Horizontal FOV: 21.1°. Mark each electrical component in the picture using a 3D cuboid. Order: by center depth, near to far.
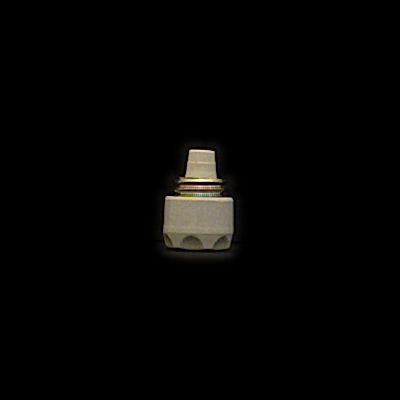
[{"bbox_3d":[0.000,0.000,0.656,0.043,0.062,0.043,2,3,0],"label":"electrical component"}]
